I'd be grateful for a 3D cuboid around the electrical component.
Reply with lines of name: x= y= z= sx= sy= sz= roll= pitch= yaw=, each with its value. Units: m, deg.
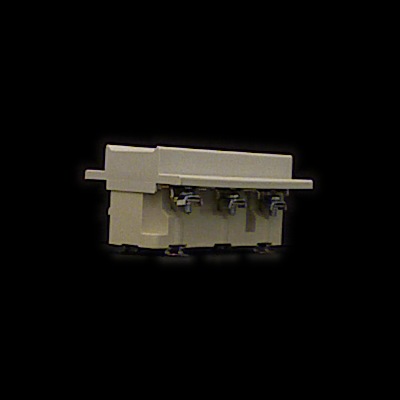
electrical component: x=0.000 y=0.000 z=0.662 sx=0.078 sy=0.063 sz=0.122 roll=4 pitch=2 yaw=43
